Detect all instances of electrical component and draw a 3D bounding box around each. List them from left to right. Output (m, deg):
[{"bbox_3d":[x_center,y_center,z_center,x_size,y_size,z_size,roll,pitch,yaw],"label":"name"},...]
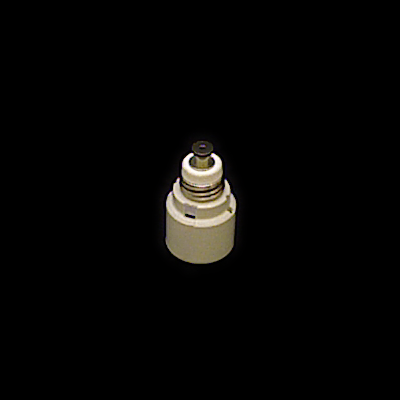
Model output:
[{"bbox_3d":[0.000,0.000,0.625,0.040,0.079,0.039,1,42,-1],"label":"electrical component"}]
